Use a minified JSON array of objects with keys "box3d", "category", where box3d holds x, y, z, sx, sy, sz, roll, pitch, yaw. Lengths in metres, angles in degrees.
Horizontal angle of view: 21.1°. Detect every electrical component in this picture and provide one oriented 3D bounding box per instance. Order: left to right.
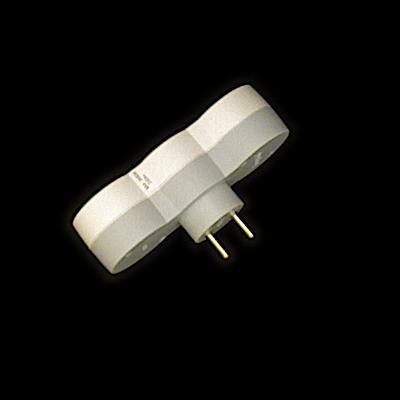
[{"box3d":[0.000,0.000,0.637,0.139,0.073,0.052,-38,-11,-10],"category":"electrical component"}]
